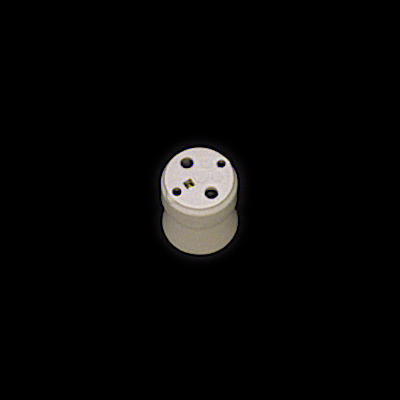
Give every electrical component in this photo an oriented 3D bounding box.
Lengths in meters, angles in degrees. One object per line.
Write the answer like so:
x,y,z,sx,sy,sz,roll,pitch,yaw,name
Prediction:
0.000,0.000,0.629,0.045,0.045,0.055,0,-27,0,electrical component
